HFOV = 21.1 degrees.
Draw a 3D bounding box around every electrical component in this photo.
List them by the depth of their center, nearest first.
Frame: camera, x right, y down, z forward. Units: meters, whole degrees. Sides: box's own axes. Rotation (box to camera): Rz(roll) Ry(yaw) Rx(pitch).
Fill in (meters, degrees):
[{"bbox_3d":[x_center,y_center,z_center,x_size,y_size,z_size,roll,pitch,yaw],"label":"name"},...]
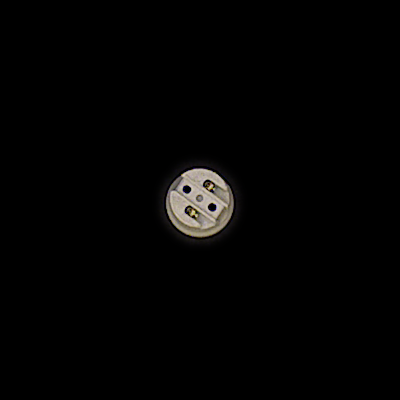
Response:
[{"bbox_3d":[0.000,0.000,0.634,0.040,0.040,0.046,0,-6,1],"label":"electrical component"}]
